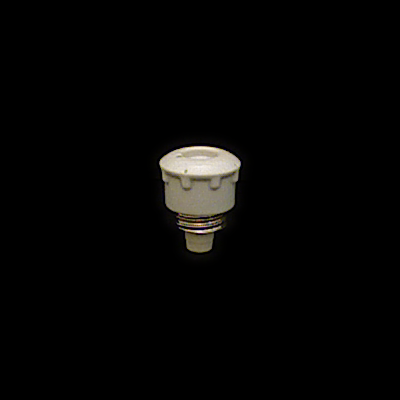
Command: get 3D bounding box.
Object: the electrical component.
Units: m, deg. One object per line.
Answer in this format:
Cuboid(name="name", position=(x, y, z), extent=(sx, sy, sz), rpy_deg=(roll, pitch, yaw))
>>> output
Cuboid(name="electrical component", position=(0.000, 0.000, 0.643), extent=(0.048, 0.062, 0.047), rpy_deg=(1, 21, 0))
